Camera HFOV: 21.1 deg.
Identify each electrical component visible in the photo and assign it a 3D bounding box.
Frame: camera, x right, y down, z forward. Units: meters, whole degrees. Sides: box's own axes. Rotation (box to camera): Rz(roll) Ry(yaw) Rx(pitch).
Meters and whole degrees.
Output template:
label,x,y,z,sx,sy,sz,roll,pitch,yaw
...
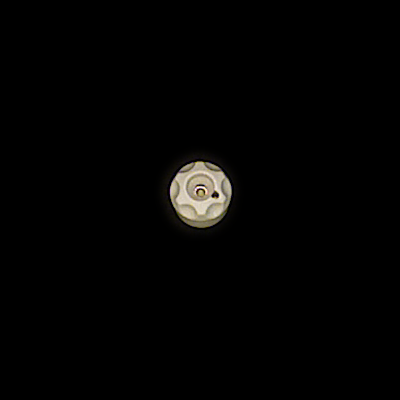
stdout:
label,x,y,z,sx,sy,sz,roll,pitch,yaw
electrical component,0.000,0.000,0.633,0.035,0.035,0.061,0,-15,1
